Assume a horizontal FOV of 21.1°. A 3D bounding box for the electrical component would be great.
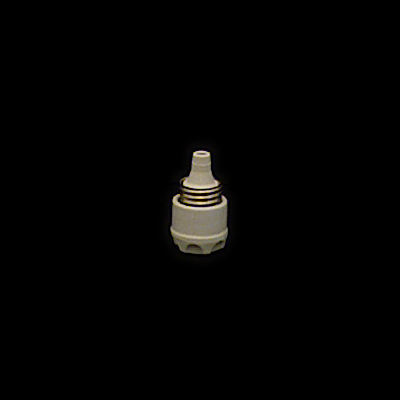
[{"bbox_3d":[0.000,0.000,0.652,0.035,0.062,0.034,2,22,0],"label":"electrical component"}]
